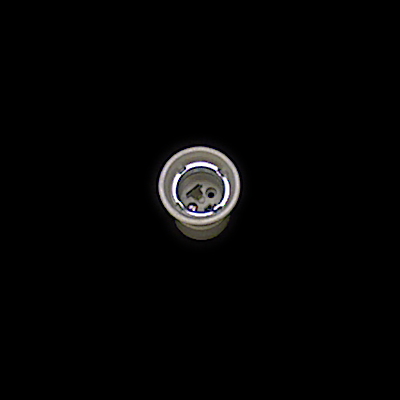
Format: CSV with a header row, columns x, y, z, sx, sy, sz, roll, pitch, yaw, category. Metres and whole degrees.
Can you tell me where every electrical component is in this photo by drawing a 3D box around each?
x,y,z,sx,sy,sz,roll,pitch,yaw,category
0.000,0.000,0.624,0.044,0.044,0.065,0,-16,1,electrical component
